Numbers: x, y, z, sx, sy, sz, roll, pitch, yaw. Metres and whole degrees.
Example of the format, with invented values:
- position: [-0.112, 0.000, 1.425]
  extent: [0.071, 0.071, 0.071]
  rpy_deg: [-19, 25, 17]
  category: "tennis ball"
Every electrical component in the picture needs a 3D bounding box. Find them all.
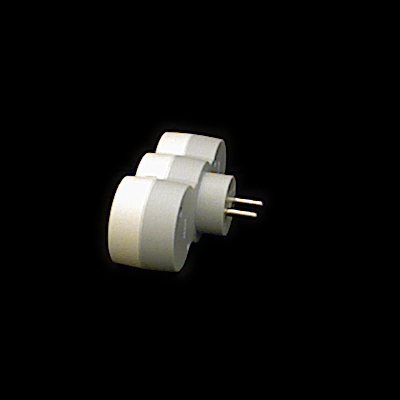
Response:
- position: [0.000, 0.000, 0.645]
  extent: [0.073, 0.053, 0.137]
  rpy_deg: [7, 22, 11]
  category: "electrical component"
